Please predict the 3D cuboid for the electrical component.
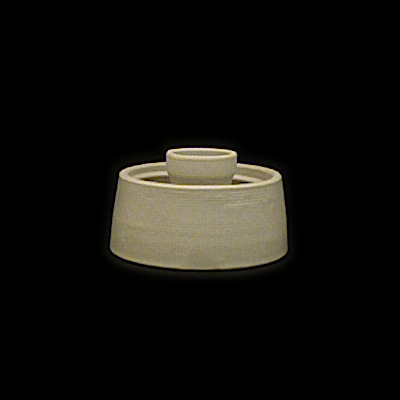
[{"bbox_3d":[0.000,0.000,0.649,0.108,0.061,0.107,1,11,0],"label":"electrical component"}]
